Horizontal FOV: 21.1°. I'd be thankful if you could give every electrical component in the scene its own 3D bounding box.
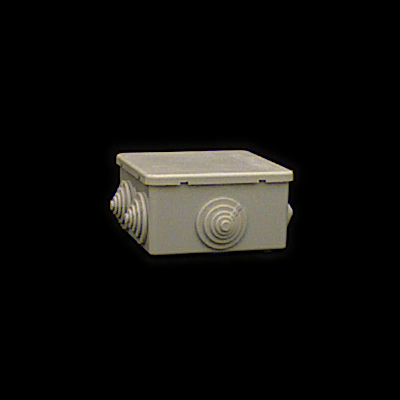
[{"bbox_3d":[0.000,0.000,0.652,0.100,0.049,0.098,-2,12,-17],"label":"electrical component"}]
